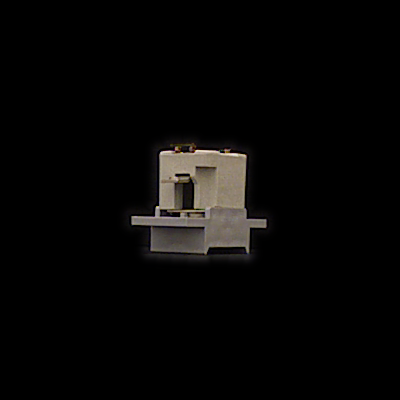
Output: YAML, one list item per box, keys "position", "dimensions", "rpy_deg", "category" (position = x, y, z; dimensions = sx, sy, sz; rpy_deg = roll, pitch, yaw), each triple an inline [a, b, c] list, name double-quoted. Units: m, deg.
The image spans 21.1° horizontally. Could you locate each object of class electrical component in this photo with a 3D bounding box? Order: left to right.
- position: [0.000, 0.000, 0.651]
  dimensions: [0.042, 0.064, 0.081]
  rpy_deg: [2, 1, 36]
  category: "electrical component"
